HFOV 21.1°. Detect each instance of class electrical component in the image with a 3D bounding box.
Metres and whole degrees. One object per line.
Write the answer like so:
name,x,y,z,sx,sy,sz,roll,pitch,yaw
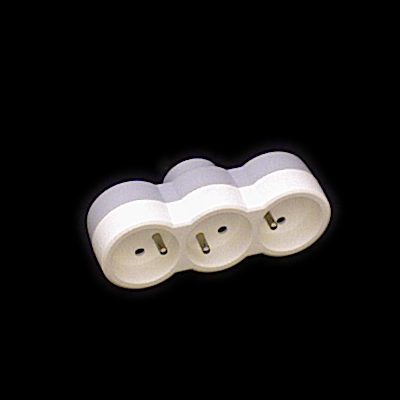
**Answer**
electrical component,0.000,0.000,0.632,0.138,0.052,0.073,-12,42,-13
